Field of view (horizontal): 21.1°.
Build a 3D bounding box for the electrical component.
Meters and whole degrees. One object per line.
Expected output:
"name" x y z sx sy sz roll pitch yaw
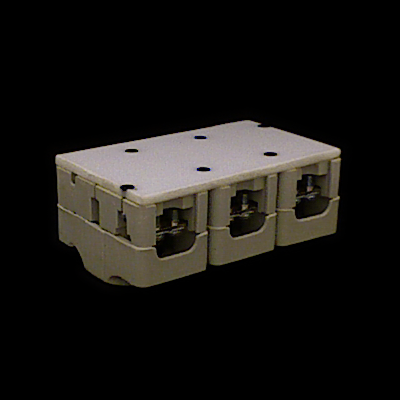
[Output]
"electrical component" 0.000 0.000 0.648 0.149 0.063 0.088 -14 25 -36
